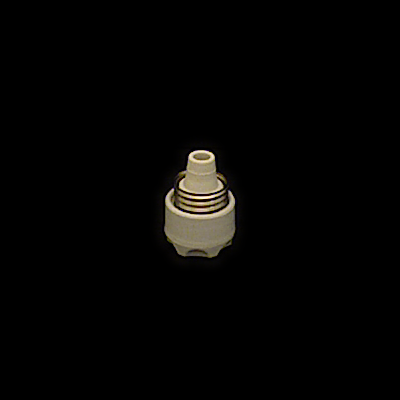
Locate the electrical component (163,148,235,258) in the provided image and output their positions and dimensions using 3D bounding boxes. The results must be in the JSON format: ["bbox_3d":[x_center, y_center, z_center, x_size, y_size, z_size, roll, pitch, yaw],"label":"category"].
[{"bbox_3d":[0.000,0.000,0.642,0.043,0.063,0.043,2,31,0],"label":"electrical component"}]
